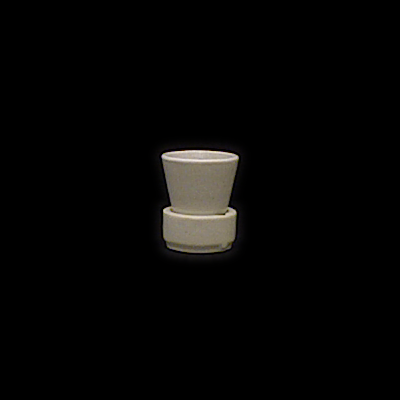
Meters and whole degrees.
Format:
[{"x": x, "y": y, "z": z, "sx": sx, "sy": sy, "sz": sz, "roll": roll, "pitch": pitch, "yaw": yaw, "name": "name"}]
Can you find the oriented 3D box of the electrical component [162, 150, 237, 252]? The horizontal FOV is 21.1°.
[{"x": 0.000, "y": 0.000, "z": 0.642, "sx": 0.045, "sy": 0.055, "sz": 0.044, "roll": 0, "pitch": 11, "yaw": 0, "name": "electrical component"}]
